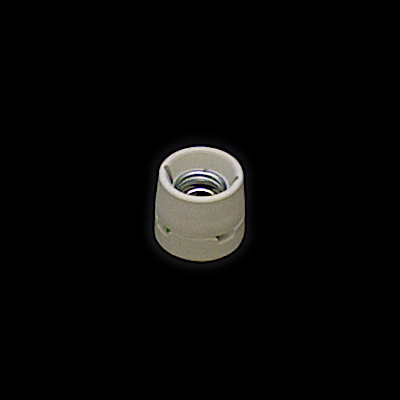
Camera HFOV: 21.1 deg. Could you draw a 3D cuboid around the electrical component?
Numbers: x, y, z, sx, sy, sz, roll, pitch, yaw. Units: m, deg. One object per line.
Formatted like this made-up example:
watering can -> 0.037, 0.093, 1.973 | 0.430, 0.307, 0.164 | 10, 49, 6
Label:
electrical component -> 0.000, 0.000, 0.636 | 0.055, 0.047, 0.055 | 1, 43, -1
